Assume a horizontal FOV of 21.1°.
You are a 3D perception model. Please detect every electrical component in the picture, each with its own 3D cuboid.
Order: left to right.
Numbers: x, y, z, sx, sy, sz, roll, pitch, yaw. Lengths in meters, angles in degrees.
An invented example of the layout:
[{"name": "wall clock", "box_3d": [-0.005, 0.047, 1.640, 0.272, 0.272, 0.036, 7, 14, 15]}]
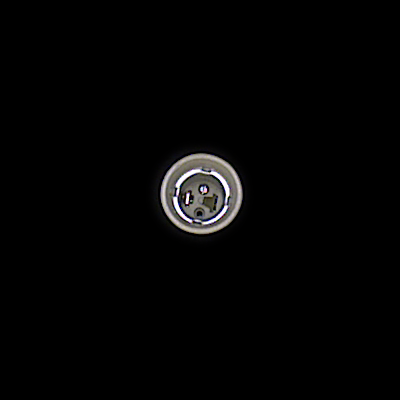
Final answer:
[{"name": "electrical component", "box_3d": [0.000, 0.000, 0.625, 0.044, 0.044, 0.065, 0, -7, 1]}]
